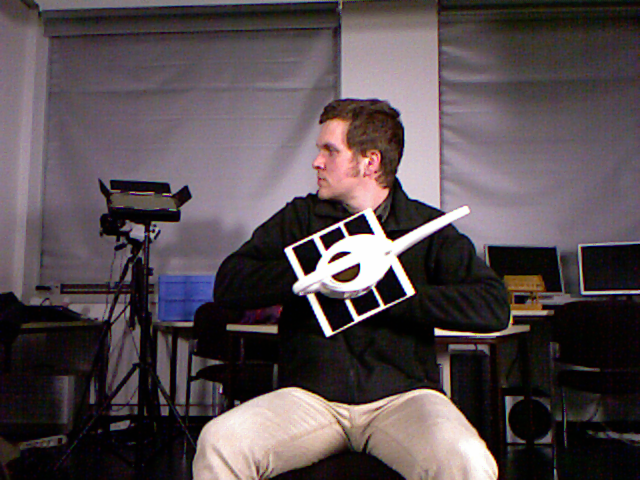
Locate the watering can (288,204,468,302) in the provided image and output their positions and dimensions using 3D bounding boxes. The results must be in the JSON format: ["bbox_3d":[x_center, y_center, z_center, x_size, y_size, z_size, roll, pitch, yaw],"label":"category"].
[{"bbox_3d":[0.106,0.035,0.979,0.350,0.105,0.223,-23,-11,-4],"label":"watering can"}]
